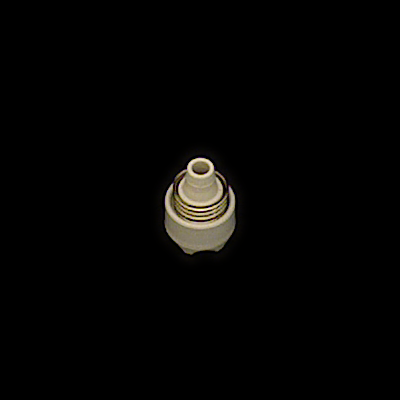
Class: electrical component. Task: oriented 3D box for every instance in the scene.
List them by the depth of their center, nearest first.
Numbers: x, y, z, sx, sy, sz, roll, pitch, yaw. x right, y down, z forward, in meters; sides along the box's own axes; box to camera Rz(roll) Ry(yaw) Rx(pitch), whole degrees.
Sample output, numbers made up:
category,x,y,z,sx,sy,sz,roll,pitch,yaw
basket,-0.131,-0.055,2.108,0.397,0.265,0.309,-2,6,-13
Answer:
category,x,y,z,sx,sy,sz,roll,pitch,yaw
electrical component,0.000,0.000,0.636,0.043,0.043,0.062,0,-38,-1
